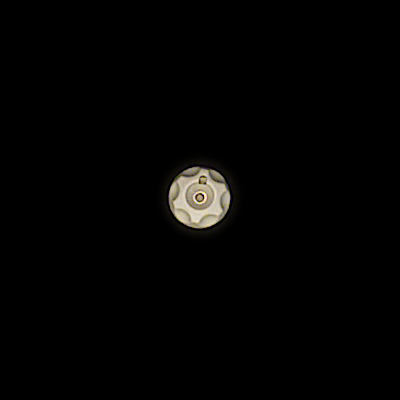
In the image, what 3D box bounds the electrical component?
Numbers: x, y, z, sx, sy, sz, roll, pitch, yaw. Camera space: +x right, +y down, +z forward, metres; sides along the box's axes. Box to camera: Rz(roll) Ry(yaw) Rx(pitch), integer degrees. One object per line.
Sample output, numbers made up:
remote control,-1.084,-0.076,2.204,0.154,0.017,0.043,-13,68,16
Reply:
electrical component,0.000,0.000,0.635,0.035,0.035,0.061,0,-6,0
